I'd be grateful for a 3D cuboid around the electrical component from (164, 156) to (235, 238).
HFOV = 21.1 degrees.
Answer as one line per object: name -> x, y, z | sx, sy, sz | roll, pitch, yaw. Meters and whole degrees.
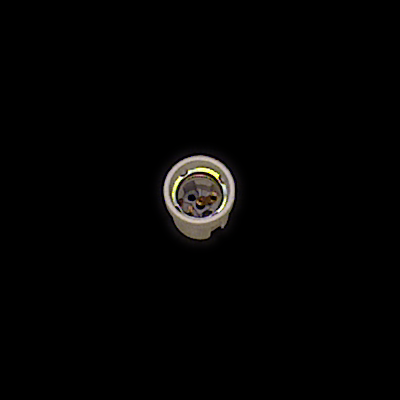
electrical component -> 0.000, 0.000, 0.627 | 0.040, 0.040, 0.046 | 0, -17, 0
